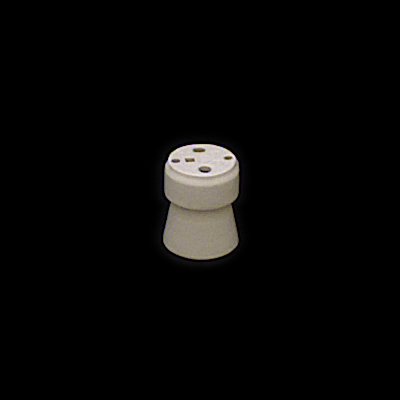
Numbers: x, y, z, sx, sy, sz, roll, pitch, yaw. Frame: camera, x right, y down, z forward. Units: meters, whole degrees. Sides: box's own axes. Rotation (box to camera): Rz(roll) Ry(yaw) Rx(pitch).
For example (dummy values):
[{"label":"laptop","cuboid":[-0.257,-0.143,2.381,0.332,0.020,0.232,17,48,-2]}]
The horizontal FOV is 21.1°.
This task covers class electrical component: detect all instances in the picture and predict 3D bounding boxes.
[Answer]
[{"label":"electrical component","cuboid":[0.000,0.000,0.637,0.045,0.056,0.044,1,32,0]}]
